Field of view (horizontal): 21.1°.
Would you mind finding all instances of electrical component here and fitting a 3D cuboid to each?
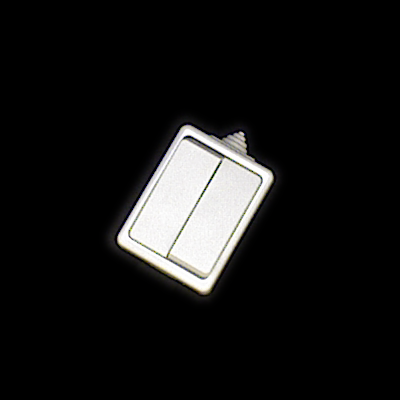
[{"bbox_3d":[0.000,0.000,0.627,0.062,0.096,0.061,30,-6,4],"label":"electrical component"}]
